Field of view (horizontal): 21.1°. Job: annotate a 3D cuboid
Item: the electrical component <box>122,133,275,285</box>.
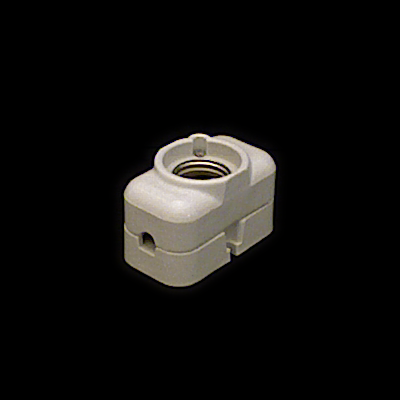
[{"bbox_3d":[0.000,0.000,0.642,0.053,0.060,0.095,25,39,33],"label":"electrical component"}]
